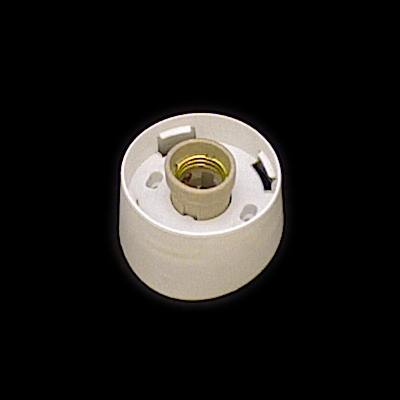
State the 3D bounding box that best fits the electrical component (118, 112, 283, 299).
[{"bbox_3d":[0.000,0.000,0.627,0.099,0.098,0.064,0,-37,0],"label":"electrical component"}]
